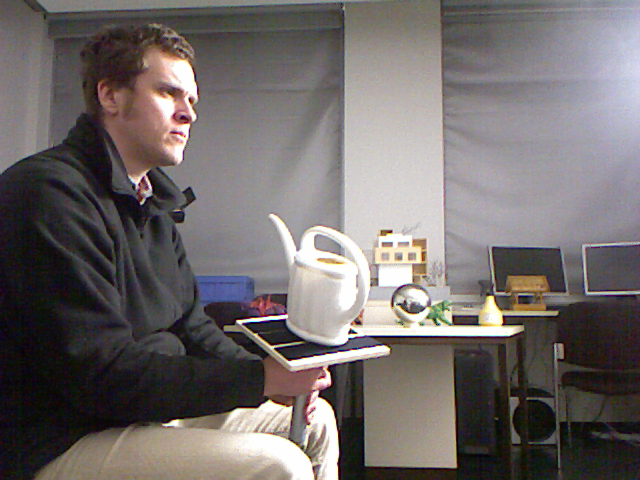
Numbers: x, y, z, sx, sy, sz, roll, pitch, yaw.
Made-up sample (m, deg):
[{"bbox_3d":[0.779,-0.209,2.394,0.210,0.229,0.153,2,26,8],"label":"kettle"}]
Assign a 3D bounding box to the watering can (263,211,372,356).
[{"bbox_3d":[-0.021,0.072,0.947,0.104,0.222,0.351,0,15,-33],"label":"watering can"}]
